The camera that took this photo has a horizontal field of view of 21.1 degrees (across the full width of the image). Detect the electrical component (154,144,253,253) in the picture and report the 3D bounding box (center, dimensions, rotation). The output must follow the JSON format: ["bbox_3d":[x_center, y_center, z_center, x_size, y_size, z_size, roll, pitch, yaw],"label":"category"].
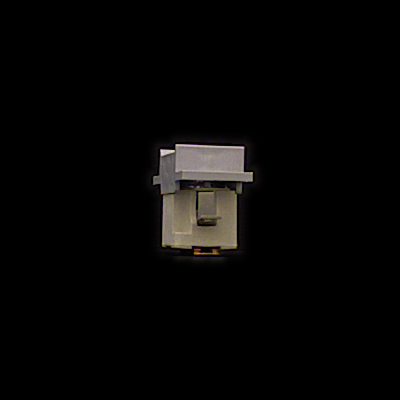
[{"bbox_3d":[0.000,0.000,0.647,0.042,0.063,0.081,2,-1,-14],"label":"electrical component"}]
